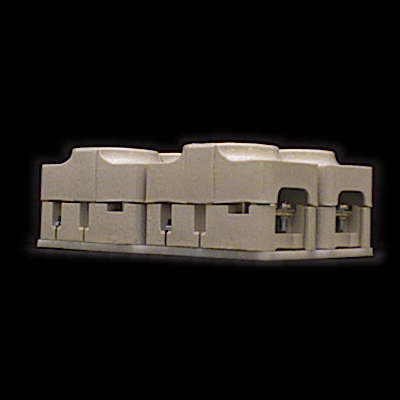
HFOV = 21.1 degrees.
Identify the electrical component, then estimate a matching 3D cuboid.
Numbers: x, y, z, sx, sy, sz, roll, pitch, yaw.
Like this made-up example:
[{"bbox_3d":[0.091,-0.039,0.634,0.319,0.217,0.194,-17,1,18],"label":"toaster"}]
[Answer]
[{"bbox_3d":[0.000,0.000,0.649,0.185,0.060,0.106,0,-1,42],"label":"electrical component"}]
